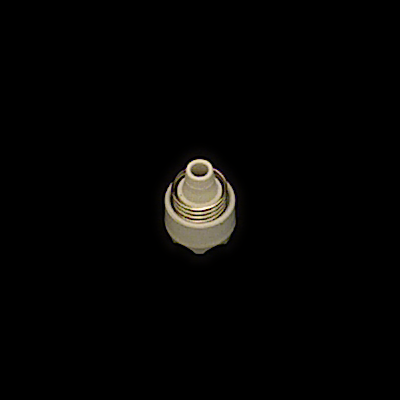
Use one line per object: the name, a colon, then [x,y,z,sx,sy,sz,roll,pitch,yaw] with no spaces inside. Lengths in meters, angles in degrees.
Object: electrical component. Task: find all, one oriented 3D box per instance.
electrical component: [0.000,0.000,0.634,0.043,0.043,0.062,0,-36,0]
